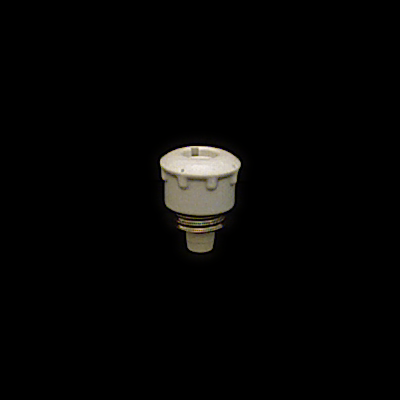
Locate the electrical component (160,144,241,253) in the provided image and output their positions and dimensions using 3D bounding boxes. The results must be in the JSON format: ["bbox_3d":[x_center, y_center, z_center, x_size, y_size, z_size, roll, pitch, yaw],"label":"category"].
[{"bbox_3d":[0.000,0.000,0.645,0.048,0.062,0.047,1,22,0],"label":"electrical component"}]
